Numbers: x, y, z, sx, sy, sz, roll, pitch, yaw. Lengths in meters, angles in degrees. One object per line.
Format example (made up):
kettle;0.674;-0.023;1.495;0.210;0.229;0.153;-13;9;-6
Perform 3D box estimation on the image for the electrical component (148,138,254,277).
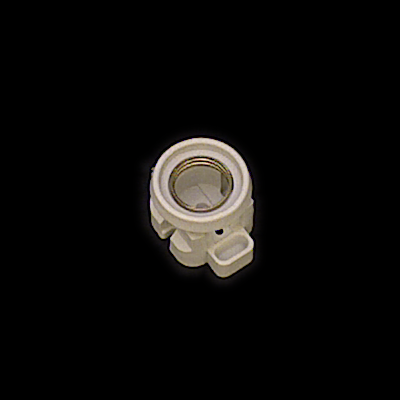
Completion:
electrical component;0.000;0.000;0.629;0.058;0.078;0.057;-32;-23;-15
